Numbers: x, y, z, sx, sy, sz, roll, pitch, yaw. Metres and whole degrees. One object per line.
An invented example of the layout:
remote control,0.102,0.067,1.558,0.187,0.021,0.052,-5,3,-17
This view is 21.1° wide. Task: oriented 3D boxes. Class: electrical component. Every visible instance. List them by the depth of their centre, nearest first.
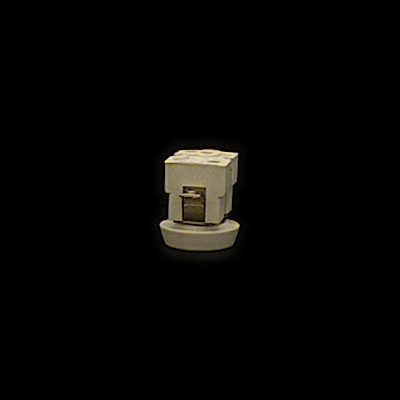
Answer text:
electrical component,0.000,0.000,0.652,0.048,0.056,0.066,5,13,11
